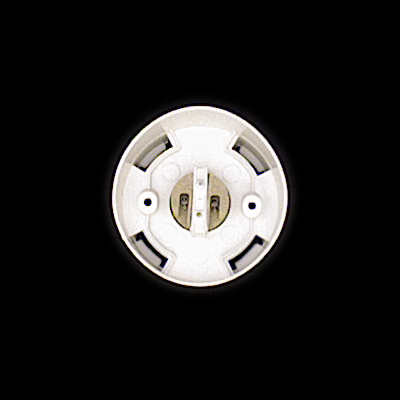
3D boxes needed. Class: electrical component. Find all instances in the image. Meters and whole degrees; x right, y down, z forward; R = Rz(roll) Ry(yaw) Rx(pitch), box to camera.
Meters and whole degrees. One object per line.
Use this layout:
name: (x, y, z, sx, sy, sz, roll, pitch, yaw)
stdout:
electrical component: (0.000, 0.000, 0.624, 0.099, 0.099, 0.064, 0, -8, 0)
